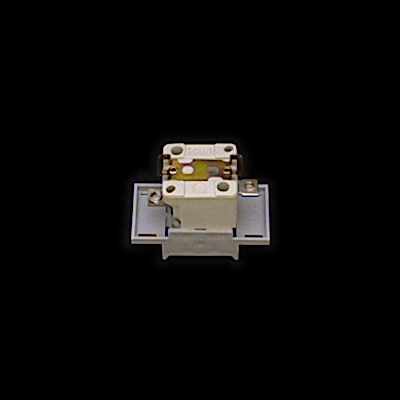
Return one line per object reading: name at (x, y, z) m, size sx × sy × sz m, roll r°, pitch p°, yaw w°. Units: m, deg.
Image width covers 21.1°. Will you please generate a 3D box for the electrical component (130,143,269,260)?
electrical component at (0.000, 0.000, 0.627) m, size 0.081 × 0.042 × 0.064 m, roll 0°, pitch -38°, yaw -1°
